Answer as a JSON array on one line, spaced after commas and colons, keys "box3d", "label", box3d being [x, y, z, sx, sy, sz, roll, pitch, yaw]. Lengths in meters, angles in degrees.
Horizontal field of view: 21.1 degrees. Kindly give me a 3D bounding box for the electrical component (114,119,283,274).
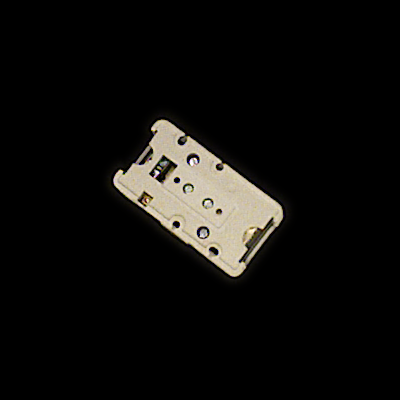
[{"box3d": [0.000, 0.000, 0.637, 0.089, 0.050, 0.055, 37, -3, 4], "label": "electrical component"}]
